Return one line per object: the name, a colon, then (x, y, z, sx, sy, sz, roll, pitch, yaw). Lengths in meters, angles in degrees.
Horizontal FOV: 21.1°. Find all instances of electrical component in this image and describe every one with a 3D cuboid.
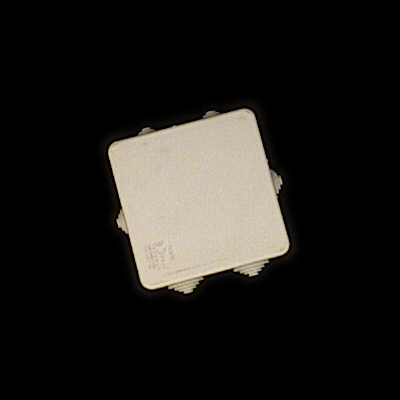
electrical component: (0.000, 0.000, 0.642, 0.100, 0.100, 0.048, -14, -6, -2)
